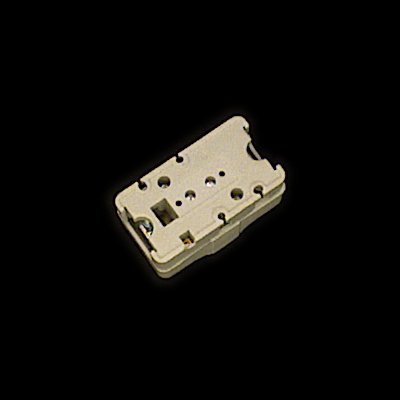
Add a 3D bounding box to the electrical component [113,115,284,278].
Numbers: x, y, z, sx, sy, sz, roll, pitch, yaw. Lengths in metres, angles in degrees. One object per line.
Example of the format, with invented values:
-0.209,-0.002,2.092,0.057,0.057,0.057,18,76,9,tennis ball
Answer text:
0.000,0.000,0.636,0.090,0.050,0.055,-34,-13,-9,electrical component
